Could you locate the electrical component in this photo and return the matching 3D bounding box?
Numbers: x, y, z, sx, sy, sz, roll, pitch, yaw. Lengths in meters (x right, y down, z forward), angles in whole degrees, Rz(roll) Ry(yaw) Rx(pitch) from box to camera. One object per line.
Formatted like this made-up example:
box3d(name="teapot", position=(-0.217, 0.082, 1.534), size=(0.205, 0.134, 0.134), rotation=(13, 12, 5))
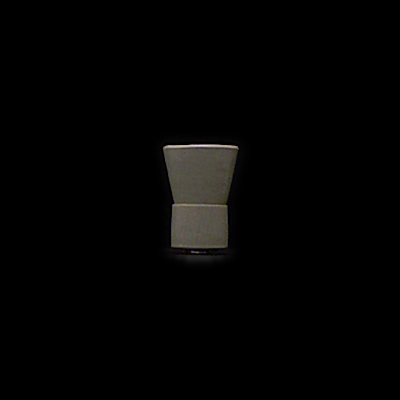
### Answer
box3d(name="electrical component", position=(0.000, 0.000, 0.647), size=(0.044, 0.065, 0.044), rotation=(1, 2, 0))
